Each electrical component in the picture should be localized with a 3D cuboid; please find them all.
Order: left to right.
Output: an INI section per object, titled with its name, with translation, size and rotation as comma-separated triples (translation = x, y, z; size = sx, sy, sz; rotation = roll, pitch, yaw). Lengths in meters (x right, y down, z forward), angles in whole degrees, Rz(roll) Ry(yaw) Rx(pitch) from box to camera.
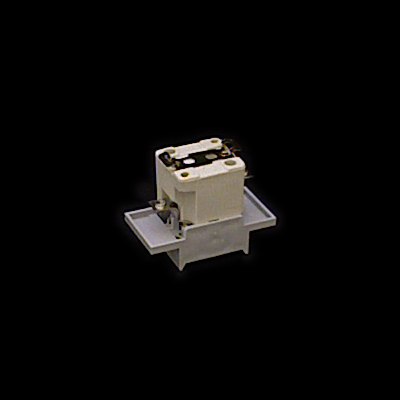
[electrical component]
translation = 0.000, 0.000, 0.633
size = 0.081, 0.064, 0.041
rotation = -13, 34, -22
